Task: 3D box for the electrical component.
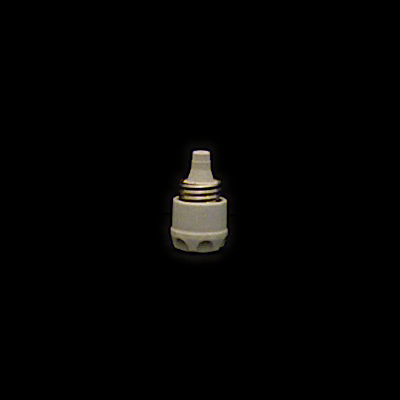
[{"bbox_3d":[0.000,0.000,0.659,0.035,0.062,0.035,1,14,0],"label":"electrical component"}]
